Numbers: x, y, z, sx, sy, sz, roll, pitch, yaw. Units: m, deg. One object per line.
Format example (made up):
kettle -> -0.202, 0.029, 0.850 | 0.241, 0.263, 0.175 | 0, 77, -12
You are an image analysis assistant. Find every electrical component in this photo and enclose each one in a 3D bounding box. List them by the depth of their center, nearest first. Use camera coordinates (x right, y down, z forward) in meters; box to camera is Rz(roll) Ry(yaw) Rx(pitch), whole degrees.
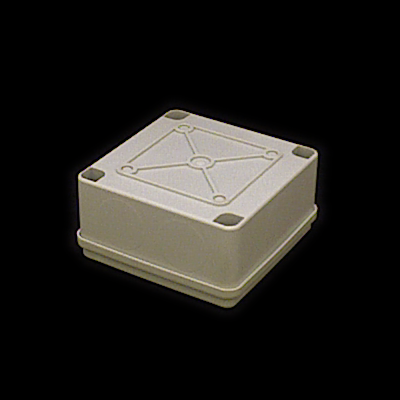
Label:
electrical component -> 0.000, 0.000, 0.633 | 0.108, 0.057, 0.108 | 18, 36, 26
